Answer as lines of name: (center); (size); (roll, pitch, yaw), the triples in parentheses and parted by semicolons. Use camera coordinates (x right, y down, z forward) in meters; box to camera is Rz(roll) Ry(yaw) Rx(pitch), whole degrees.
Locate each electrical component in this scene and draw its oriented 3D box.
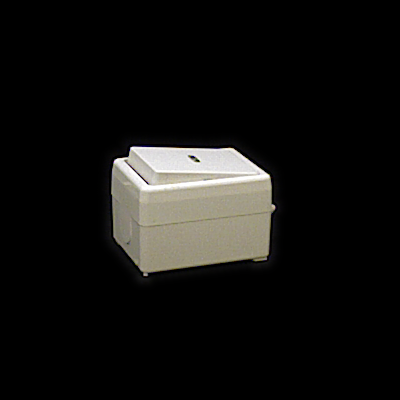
electrical component: (0.000, 0.000, 0.639); (0.096, 0.061, 0.061); (-7, 22, -20)
